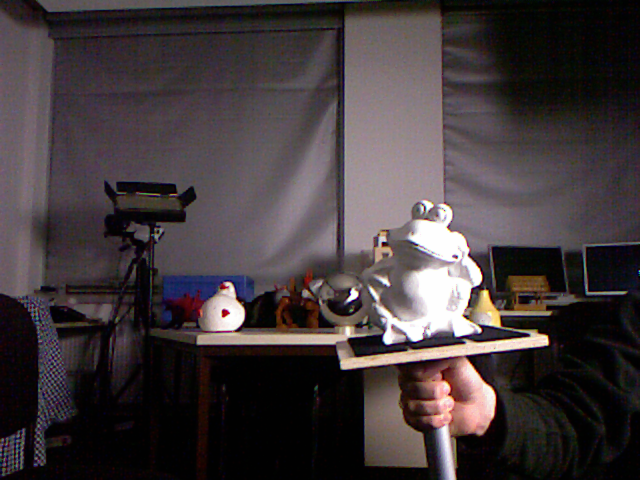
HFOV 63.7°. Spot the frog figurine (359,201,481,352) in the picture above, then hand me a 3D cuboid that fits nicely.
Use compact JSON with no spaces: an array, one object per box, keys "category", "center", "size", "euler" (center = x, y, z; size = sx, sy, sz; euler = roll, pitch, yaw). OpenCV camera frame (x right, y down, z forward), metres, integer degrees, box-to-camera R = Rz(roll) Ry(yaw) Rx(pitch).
[{"category":"frog figurine","center":[0.111,0.037,0.595],"size":[0.137,0.160,0.123],"euler":[-7,-2,14]}]
